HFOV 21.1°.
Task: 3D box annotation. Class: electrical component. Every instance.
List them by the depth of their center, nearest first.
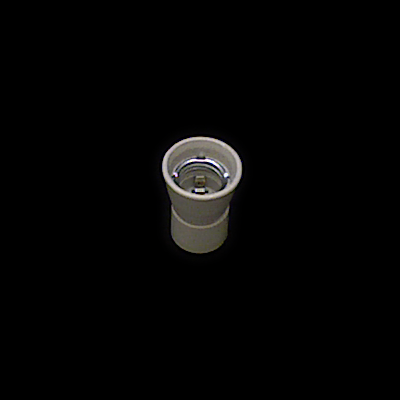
[{"bbox_3d":[0.000,0.000,0.627,0.044,0.044,0.065,0,-38,-2],"label":"electrical component"}]
